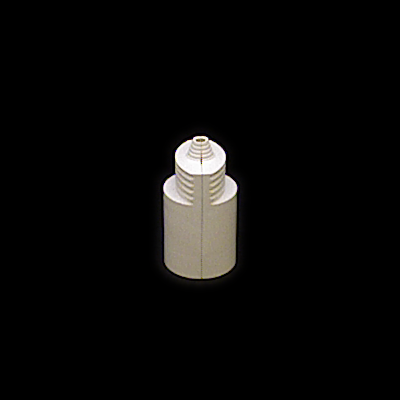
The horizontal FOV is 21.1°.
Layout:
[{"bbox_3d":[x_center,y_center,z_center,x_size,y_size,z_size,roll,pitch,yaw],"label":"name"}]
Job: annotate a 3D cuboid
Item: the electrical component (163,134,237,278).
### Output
[{"bbox_3d":[0.000,0.000,0.629,0.043,0.082,0.042,1,31,0],"label":"electrical component"}]
